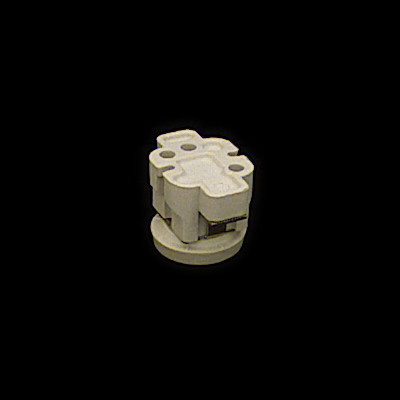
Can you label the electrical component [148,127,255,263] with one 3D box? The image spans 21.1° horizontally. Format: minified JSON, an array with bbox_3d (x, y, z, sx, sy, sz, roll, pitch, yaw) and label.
[{"bbox_3d":[0.000,0.000,0.642,0.058,0.057,0.077,-14,37,-24],"label":"electrical component"}]
